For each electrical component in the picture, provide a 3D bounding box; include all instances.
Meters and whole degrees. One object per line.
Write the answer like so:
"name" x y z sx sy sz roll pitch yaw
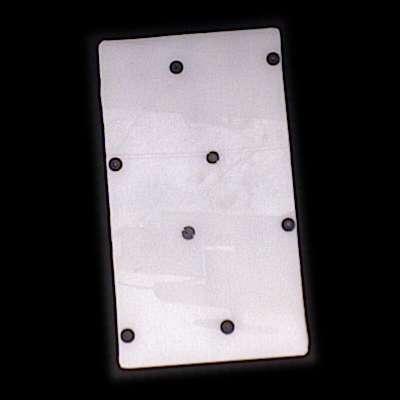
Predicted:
"electrical component" 0.000 0.000 0.626 0.105 0.187 0.060 -5 -7 0
